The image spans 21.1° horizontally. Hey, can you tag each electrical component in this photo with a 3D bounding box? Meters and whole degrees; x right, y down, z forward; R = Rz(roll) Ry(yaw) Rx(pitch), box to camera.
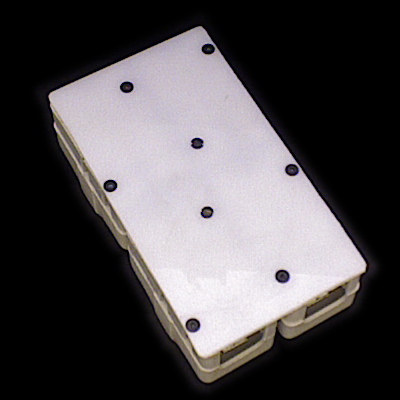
[{"bbox_3d":[0.000,0.000,0.625,0.106,0.186,0.060,-27,-24,-13],"label":"electrical component"}]
